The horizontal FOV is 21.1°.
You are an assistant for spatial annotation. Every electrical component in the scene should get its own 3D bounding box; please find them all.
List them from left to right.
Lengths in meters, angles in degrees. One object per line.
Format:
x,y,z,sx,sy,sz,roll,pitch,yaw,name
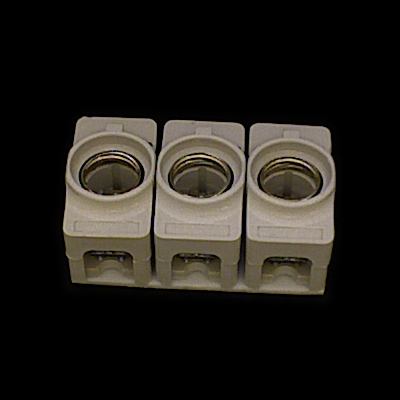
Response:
0.000,0.000,0.634,0.150,0.088,0.062,2,-38,1,electrical component
